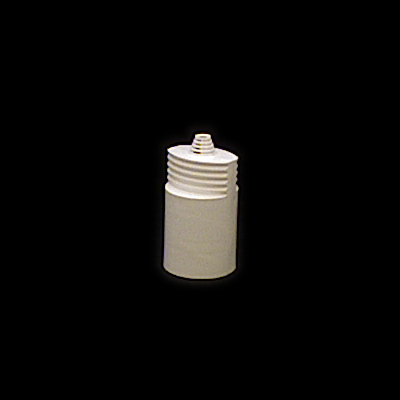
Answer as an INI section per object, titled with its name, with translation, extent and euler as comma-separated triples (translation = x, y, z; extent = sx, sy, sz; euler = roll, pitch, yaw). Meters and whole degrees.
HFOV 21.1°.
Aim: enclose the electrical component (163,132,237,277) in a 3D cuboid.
[electrical component]
translation = 0.000, 0.000, 0.634
extent = 0.043, 0.082, 0.042
euler = 1, 21, 0
